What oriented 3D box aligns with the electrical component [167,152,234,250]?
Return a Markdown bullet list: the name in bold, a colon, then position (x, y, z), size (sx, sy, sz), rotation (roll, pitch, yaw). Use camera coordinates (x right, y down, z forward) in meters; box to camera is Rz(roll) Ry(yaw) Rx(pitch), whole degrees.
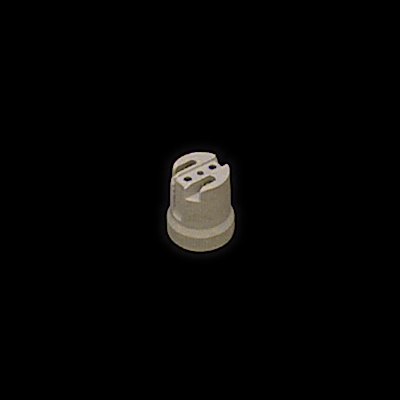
- **electrical component**: position (0.000, 0.000, 0.635), size (0.040, 0.046, 0.040), rotation (1, 42, 0)
